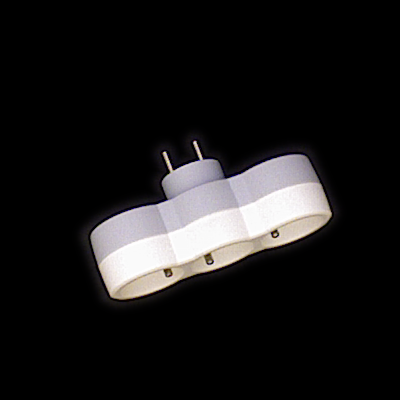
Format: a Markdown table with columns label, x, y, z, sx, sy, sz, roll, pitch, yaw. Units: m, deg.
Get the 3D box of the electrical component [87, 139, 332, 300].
| label | x | y | z | sx | sy | sz | roll | pitch | yaw |
| --- | --- | --- | --- | --- | --- | --- | --- | --- | --- |
| electrical component | 0.000 | 0.000 | 0.630 | 0.138 | 0.074 | 0.052 | -20 | -18 | -5 |
